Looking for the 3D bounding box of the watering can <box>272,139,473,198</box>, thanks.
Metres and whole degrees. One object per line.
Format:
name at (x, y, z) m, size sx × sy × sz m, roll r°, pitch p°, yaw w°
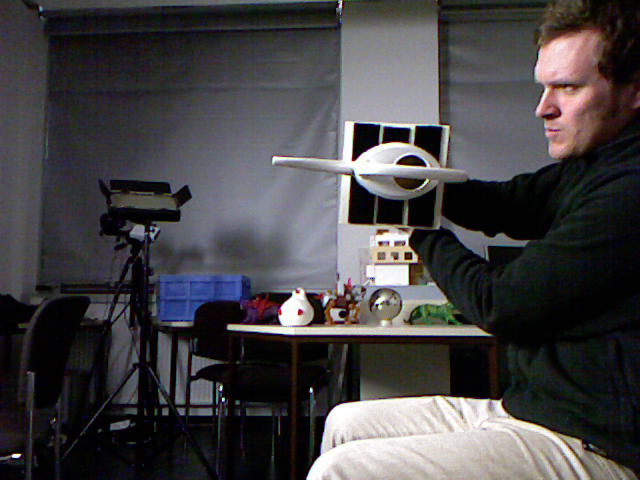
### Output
watering can at (0.097, -0.137, 0.952) m, size 0.350 × 0.104 × 0.227 m, roll 6°, pitch 11°, yaw 2°
